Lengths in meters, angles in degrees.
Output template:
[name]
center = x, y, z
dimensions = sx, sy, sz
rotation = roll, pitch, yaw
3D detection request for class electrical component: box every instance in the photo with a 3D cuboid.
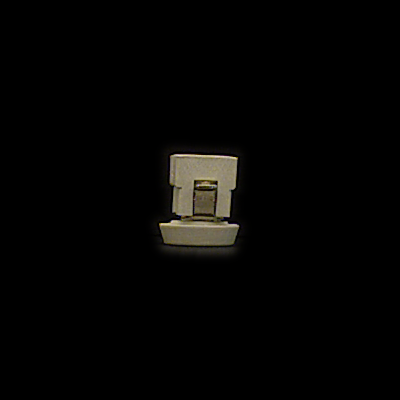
[electrical component]
center = 0.000, 0.000, 0.657
dimensions = 0.048, 0.055, 0.066
rotation = 2, 2, -6
